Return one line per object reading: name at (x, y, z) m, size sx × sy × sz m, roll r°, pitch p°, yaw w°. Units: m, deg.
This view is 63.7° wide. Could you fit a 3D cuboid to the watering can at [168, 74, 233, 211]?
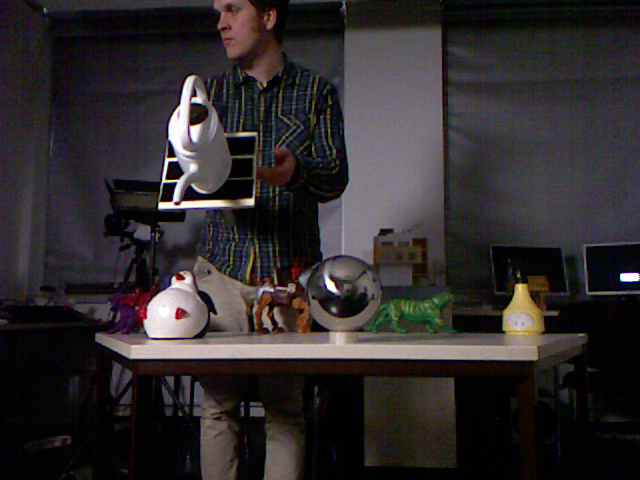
watering can at (-0.250, -0.168, 1.045) m, size 0.104 × 0.355 × 0.220 m, roll -2°, pitch -29°, yaw 4°
